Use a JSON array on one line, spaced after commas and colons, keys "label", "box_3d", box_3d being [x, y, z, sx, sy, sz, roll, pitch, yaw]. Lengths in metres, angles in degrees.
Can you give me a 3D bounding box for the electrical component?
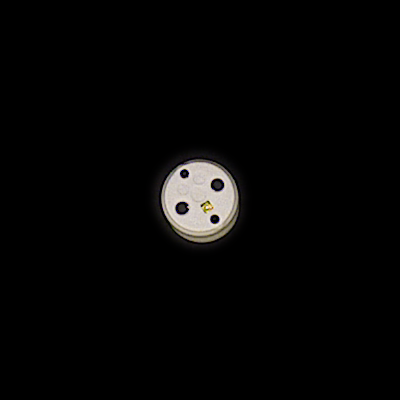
[{"label": "electrical component", "box_3d": [0.000, 0.000, 0.629, 0.045, 0.045, 0.055, 0, -6, 1]}]
